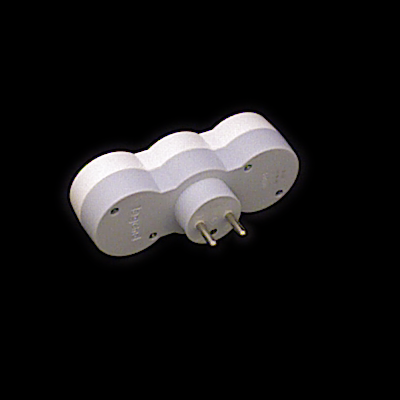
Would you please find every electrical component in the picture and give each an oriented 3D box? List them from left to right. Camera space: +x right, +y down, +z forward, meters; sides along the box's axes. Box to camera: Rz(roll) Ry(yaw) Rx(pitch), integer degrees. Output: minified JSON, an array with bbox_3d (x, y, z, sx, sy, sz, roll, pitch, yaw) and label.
[{"bbox_3d":[0.000,0.000,0.635,0.138,0.052,0.073,-18,48,-21],"label":"electrical component"}]
